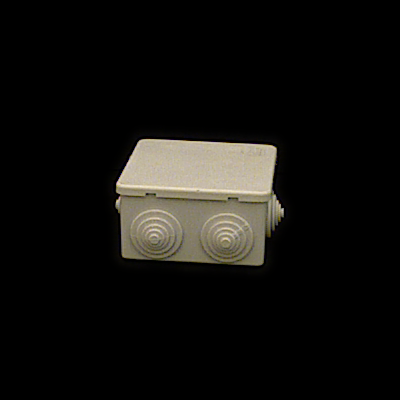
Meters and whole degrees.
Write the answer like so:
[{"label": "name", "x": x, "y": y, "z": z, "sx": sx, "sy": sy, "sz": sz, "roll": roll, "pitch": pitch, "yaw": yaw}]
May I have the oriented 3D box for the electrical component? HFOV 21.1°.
[{"label": "electrical component", "x": 0.000, "y": 0.000, "z": 0.650, "sx": 0.099, "sy": 0.049, "sz": 0.099, "roll": 3, "pitch": 22, "yaw": 5}]
